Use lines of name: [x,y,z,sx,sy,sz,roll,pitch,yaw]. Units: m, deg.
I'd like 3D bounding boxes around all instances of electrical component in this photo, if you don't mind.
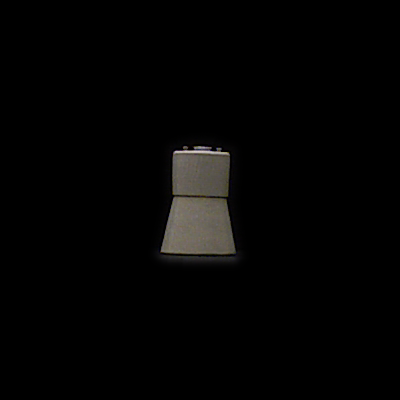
electrical component: [0.000,0.000,0.648,0.044,0.065,0.044,2,2,0]
